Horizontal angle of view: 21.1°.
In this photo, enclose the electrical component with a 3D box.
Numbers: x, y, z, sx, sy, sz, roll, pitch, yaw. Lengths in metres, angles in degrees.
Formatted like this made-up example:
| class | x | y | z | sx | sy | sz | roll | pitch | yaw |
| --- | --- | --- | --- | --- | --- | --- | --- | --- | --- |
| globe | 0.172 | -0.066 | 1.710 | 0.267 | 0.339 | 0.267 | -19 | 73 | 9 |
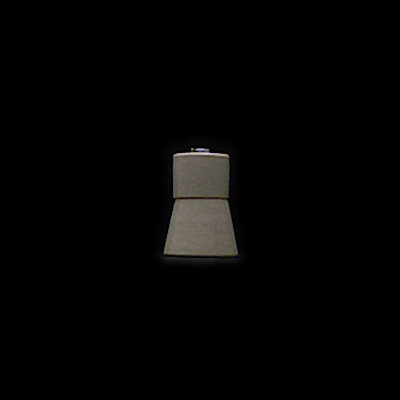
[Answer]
| class | x | y | z | sx | sy | sz | roll | pitch | yaw |
| --- | --- | --- | --- | --- | --- | --- | --- | --- | --- |
| electrical component | 0.000 | 0.000 | 0.652 | 0.044 | 0.065 | 0.044 | 0 | 1 | 0 |
